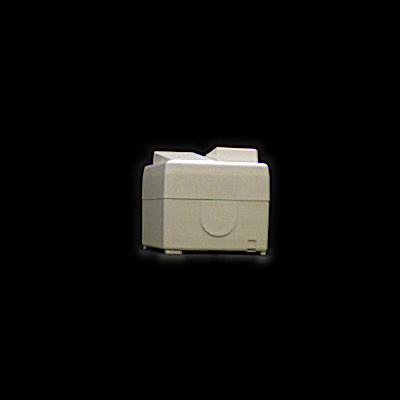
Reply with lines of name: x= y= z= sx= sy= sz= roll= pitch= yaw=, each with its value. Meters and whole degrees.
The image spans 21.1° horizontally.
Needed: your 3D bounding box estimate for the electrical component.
electrical component: x=0.000 y=0.000 z=0.652 sx=0.062 sy=0.061 sz=0.096 roll=1 pitch=0 yaw=-13
